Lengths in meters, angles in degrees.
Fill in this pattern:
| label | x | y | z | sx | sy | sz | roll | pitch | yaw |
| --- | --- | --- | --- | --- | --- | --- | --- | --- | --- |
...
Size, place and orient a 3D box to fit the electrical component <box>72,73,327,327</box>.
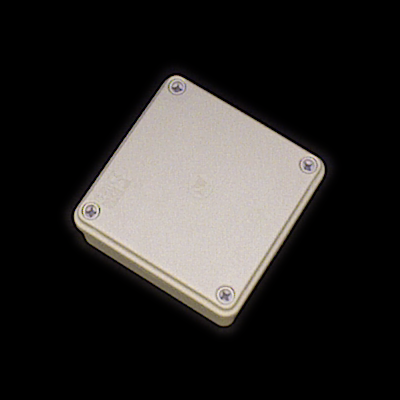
| label | x | y | z | sx | sy | sz | roll | pitch | yaw |
| --- | --- | --- | --- | --- | --- | --- | --- | --- | --- |
| electrical component | 0.000 | 0.000 | 0.629 | 0.109 | 0.109 | 0.056 | 31 | -15 | 8 |
